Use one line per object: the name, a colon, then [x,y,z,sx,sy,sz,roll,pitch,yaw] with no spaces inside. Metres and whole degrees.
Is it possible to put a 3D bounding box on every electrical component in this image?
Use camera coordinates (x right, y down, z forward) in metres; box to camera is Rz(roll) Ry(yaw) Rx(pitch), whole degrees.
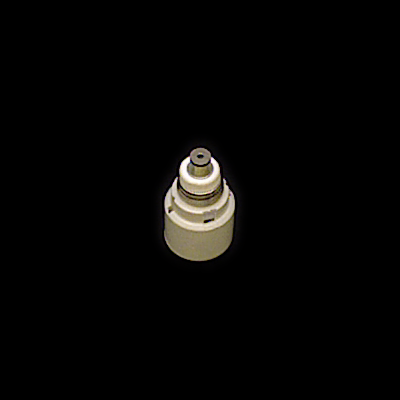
electrical component: [0.000,0.000,0.620,0.040,0.040,0.079,0,-39,-1]
